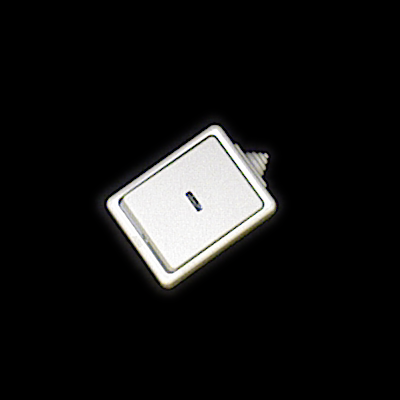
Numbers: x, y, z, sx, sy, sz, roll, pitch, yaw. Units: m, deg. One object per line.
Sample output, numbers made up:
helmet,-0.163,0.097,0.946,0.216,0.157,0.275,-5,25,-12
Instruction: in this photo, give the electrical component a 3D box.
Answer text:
electrical component,0.000,0.000,0.626,0.096,0.062,0.061,-36,-6,-4
